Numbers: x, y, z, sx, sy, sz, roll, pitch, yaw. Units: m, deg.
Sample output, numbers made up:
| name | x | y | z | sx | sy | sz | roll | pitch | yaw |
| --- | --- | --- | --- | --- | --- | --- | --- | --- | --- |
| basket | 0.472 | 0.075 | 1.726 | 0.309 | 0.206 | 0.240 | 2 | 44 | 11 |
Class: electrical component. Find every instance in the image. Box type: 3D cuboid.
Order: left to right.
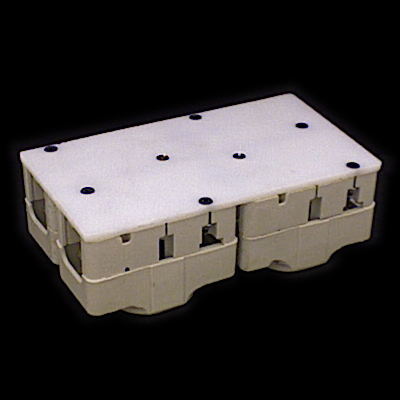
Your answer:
| name | x | y | z | sx | sy | sz | roll | pitch | yaw |
| --- | --- | --- | --- | --- | --- | --- | --- | --- | --- |
| electrical component | 0.000 | 0.000 | 0.634 | 0.186 | 0.061 | 0.104 | -14 | 35 | -24 |
